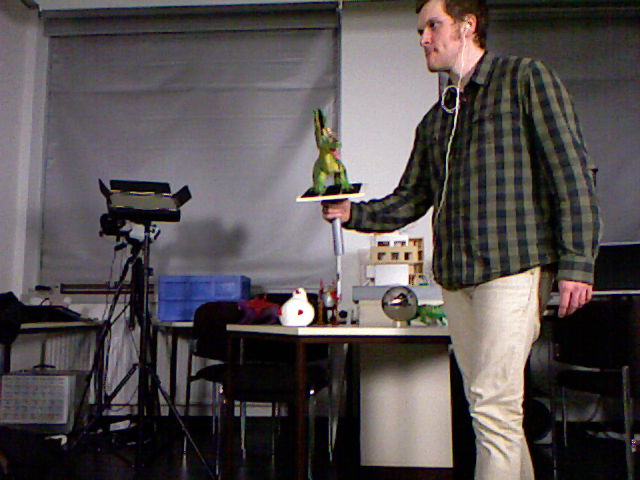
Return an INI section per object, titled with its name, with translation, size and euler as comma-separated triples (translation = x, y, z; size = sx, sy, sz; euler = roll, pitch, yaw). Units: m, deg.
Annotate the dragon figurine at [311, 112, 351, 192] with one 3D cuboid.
[dragon figurine]
translation = 0.011, -0.276, 1.586
size = 0.122, 0.240, 0.414
euler = -9, 14, -9
